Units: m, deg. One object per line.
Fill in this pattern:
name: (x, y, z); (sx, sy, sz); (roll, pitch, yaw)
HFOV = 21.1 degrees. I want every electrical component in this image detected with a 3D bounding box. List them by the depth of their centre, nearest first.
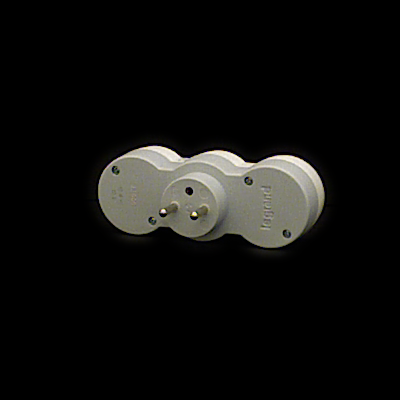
electrical component: (0.000, 0.000, 0.649); (0.137, 0.052, 0.074); (5, 14, 19)
